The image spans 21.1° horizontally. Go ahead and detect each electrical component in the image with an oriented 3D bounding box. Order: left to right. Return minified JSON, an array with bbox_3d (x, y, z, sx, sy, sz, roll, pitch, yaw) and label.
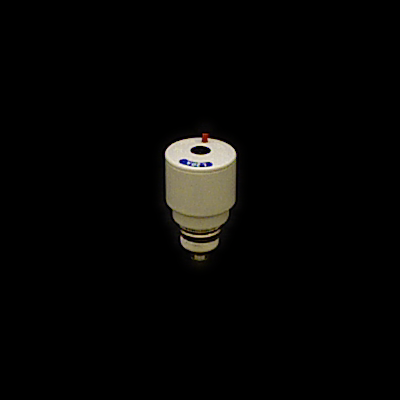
[{"bbox_3d":[0.000,0.000,0.631,0.040,0.079,0.039,1,30,0],"label":"electrical component"}]
